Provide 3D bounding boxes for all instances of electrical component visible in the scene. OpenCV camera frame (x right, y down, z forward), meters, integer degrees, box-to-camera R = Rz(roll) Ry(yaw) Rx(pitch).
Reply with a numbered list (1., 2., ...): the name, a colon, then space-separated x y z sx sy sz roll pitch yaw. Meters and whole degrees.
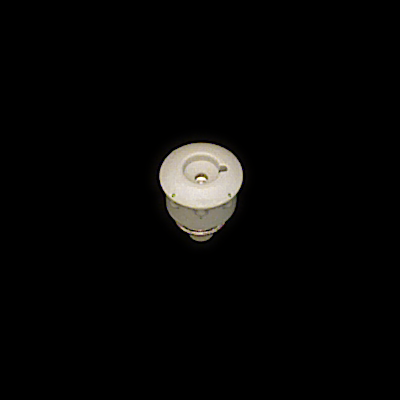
1. electrical component: 0.000 0.000 0.637 0.048 0.048 0.062 0 -37 0
